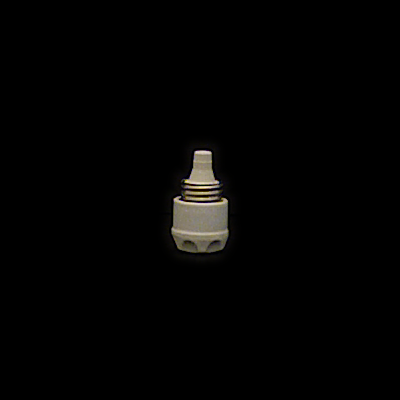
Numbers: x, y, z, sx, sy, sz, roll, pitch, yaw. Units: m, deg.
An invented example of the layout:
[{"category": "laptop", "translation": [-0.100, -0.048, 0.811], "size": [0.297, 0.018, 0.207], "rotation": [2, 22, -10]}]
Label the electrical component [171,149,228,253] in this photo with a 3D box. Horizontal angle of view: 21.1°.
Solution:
[{"category": "electrical component", "translation": [0.000, 0.000, 0.658], "size": [0.035, 0.062, 0.035], "rotation": [3, 12, 0]}]
